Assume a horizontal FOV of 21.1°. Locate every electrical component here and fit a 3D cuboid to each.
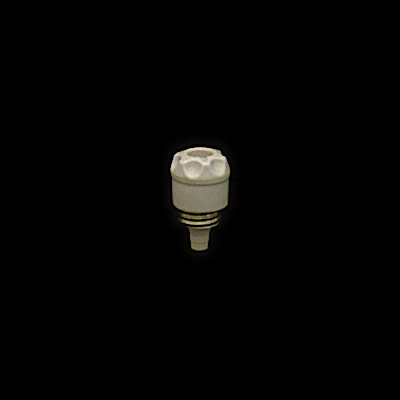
[{"bbox_3d":[0.000,0.000,0.643,0.035,0.062,0.035,1,22,0],"label":"electrical component"}]
